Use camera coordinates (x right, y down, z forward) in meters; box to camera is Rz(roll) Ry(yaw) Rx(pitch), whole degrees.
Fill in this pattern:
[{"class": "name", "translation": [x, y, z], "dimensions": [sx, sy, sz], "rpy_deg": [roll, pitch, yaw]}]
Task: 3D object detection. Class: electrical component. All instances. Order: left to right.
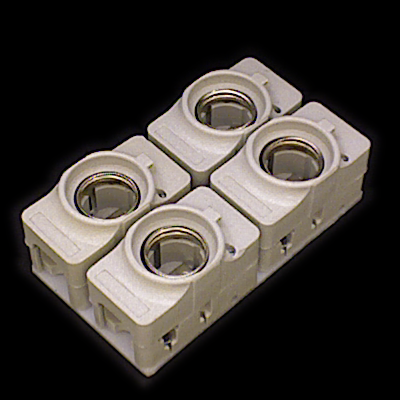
[{"class": "electrical component", "translation": [0.000, 0.000, 0.628], "dimensions": [0.186, 0.060, 0.105], "rpy_deg": [-37, 61, -26]}]
